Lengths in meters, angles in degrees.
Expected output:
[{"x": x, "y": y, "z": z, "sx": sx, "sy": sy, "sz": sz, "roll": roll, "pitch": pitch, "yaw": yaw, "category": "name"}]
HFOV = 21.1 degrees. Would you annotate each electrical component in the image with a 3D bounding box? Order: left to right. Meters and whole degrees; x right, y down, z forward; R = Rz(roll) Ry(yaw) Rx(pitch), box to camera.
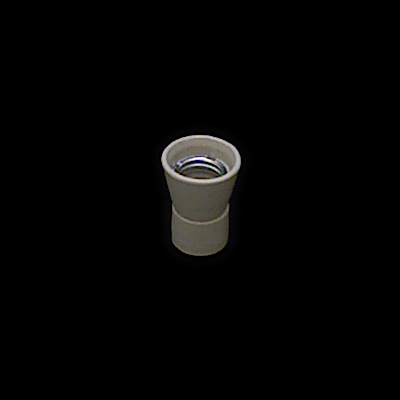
[{"x": 0.000, "y": 0.000, "z": 0.631, "sx": 0.044, "sy": 0.066, "sz": 0.044, "roll": 1, "pitch": 41, "yaw": 0, "category": "electrical component"}]
